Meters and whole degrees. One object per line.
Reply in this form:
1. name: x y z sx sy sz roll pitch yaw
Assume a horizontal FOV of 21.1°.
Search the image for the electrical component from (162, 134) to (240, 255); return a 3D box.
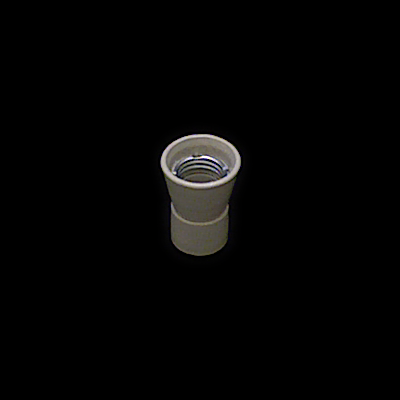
1. electrical component: 0.000 0.000 0.628 0.044 0.066 0.044 1 43 -1
